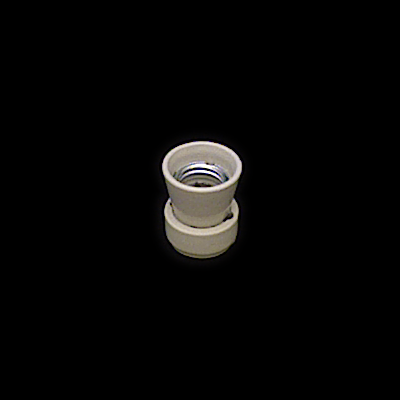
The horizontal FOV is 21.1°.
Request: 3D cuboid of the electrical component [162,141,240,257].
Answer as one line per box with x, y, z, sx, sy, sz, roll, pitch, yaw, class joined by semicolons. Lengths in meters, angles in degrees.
0.000;0.000;0.633;0.045;0.056;0.044;1;42;-1;electrical component
